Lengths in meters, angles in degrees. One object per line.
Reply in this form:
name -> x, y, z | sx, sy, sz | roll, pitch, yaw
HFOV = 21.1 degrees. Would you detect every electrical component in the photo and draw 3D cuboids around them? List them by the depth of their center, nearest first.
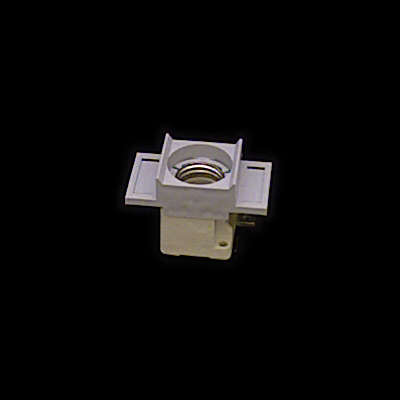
electrical component -> 0.000, 0.000, 0.629 | 0.081, 0.064, 0.042 | 5, 41, 5
